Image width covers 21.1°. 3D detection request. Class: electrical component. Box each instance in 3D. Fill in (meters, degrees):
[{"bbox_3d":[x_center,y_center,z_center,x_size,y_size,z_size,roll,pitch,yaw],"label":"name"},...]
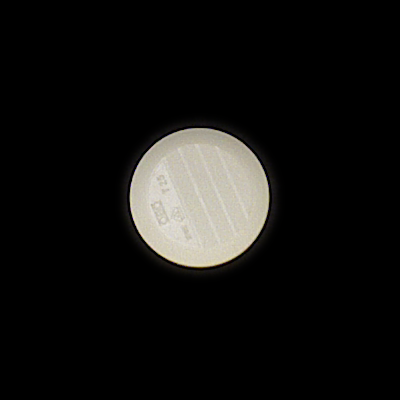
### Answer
[{"bbox_3d":[0.000,0.000,0.631,0.080,0.080,0.050,0,-7,0],"label":"electrical component"}]
